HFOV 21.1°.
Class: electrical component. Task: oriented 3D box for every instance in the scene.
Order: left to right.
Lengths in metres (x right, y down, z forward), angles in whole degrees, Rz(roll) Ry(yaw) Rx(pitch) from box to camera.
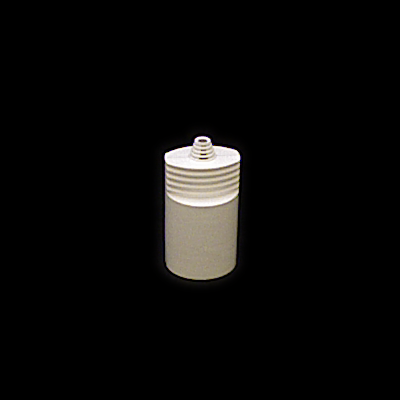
[{"bbox_3d":[0.000,0.000,0.629,0.043,0.082,0.042,1,31,0],"label":"electrical component"}]
